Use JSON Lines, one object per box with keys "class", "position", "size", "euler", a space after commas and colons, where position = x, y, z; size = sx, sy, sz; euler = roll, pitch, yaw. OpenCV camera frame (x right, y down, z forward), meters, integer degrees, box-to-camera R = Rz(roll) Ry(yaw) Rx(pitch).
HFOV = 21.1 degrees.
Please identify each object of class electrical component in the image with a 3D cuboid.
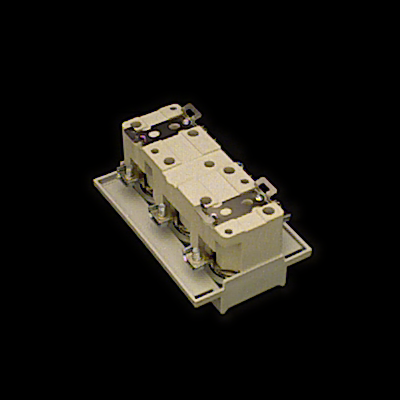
{"class": "electrical component", "position": [0.000, 0.000, 0.636], "size": [0.079, 0.063, 0.120], "euler": [-23, 48, -23]}
